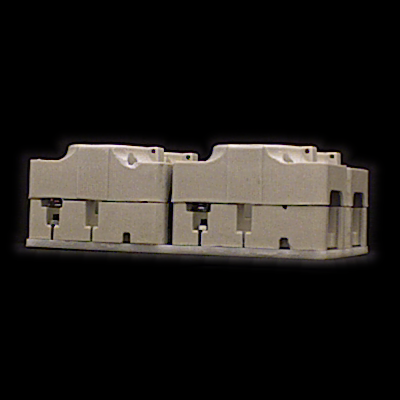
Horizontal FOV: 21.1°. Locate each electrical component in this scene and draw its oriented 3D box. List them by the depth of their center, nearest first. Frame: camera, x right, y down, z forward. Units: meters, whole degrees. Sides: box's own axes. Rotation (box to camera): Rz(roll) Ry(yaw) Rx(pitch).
[{"bbox_3d":[0.000,0.000,0.651,0.186,0.060,0.106,1,0,22],"label":"electrical component"}]
